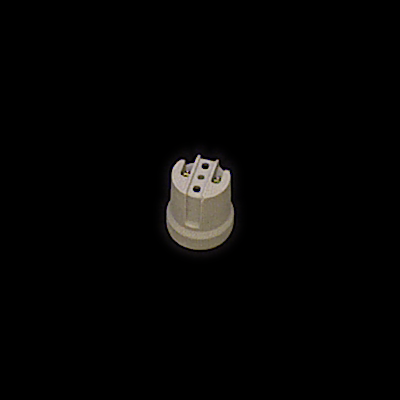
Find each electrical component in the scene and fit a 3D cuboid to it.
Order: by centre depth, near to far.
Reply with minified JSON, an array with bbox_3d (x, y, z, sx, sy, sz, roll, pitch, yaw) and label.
[{"bbox_3d":[0.000,0.000,0.634,0.040,0.040,0.046,0,-37,-1],"label":"electrical component"}]
